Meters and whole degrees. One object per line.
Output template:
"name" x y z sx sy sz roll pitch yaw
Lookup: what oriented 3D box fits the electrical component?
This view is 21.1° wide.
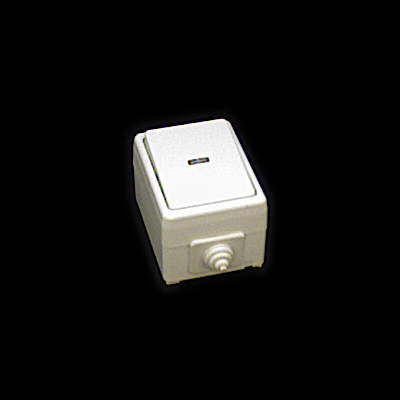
"electrical component" 0.000 0.000 0.628 0.062 0.061 0.095 -10 43 -12
